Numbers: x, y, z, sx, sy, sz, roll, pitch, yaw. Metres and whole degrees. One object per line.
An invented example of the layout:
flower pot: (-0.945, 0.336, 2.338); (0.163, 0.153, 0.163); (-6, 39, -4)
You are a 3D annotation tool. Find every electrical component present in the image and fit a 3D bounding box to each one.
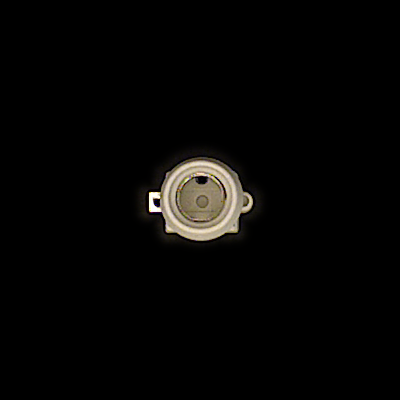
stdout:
electrical component: (0.000, 0.000, 0.639); (0.066, 0.048, 0.055); (-2, -8, 0)
